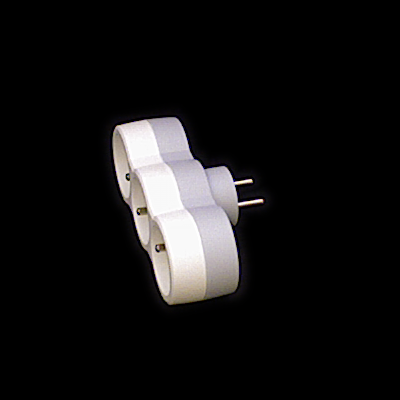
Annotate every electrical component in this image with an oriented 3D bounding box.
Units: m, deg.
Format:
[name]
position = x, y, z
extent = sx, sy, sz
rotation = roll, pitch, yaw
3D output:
[electrical component]
position = 0.000, 0.000, 0.636
extent = 0.074, 0.052, 0.137
rotation = -10, 42, -15
